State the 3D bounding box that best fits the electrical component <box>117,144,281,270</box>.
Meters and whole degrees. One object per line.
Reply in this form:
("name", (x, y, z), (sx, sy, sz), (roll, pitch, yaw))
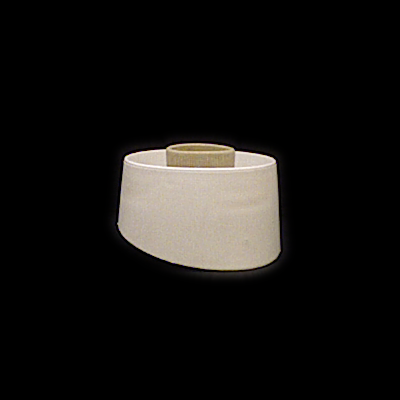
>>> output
("electrical component", (0.000, 0.000, 0.644), (0.099, 0.064, 0.098), (1, 11, 0))
